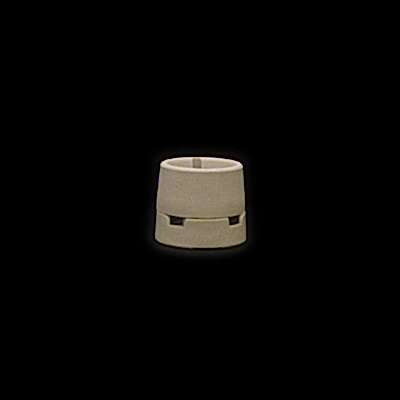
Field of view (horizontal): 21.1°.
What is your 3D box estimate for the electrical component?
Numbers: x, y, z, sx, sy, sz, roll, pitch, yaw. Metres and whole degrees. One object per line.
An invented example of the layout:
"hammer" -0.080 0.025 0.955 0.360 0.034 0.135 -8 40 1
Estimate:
"electrical component" 0.000 0.000 0.644 0.055 0.047 0.055 1 12 0
